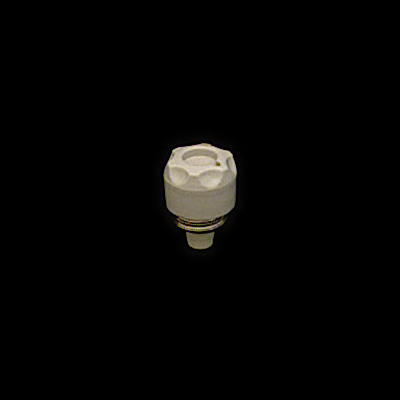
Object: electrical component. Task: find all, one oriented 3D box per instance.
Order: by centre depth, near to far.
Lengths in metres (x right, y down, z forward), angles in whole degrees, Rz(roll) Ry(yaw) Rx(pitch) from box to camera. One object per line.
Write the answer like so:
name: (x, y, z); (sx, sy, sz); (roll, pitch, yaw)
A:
electrical component: (0.000, 0.000, 0.641); (0.043, 0.063, 0.043); (0, 32, 1)
